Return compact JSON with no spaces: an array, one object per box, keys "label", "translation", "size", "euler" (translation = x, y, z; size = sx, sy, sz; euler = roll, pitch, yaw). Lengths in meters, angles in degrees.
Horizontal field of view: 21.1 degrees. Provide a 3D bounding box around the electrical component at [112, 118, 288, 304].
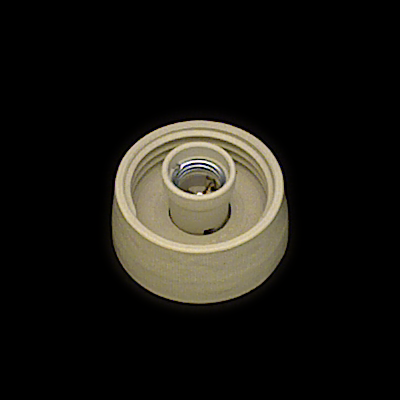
[{"label":"electrical component","translation":[0.000,0.000,0.635],"size":[0.108,0.107,0.060],"euler":[0,-37,0]}]
